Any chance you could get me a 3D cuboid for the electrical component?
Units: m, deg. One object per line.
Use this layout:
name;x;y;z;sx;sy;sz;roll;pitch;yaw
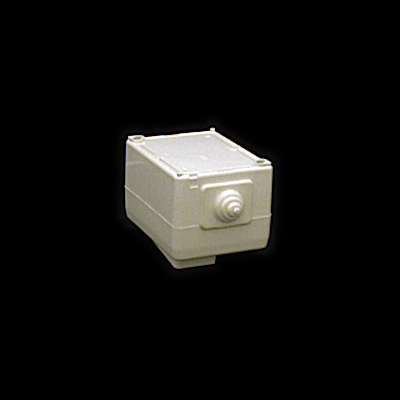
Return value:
electrical component;0.000;0.000;0.633;0.061;0.061;0.095;-8;22;-24
